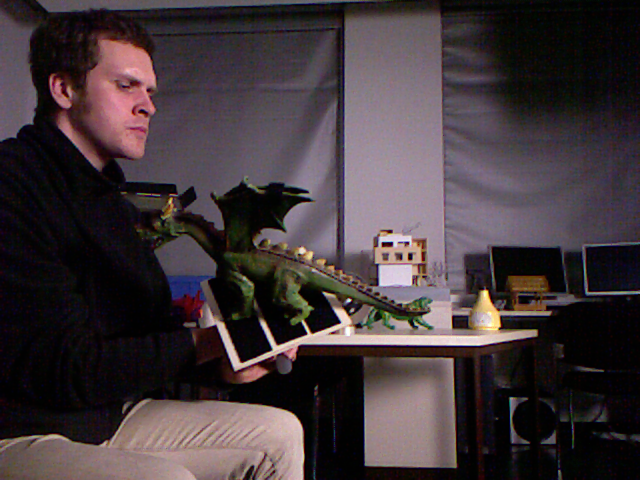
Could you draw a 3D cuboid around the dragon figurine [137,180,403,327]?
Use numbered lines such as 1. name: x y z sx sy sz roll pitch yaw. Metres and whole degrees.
1. dragon figurine: -0.075 0.014 0.792 0.411 0.125 0.237 4 -42 8
